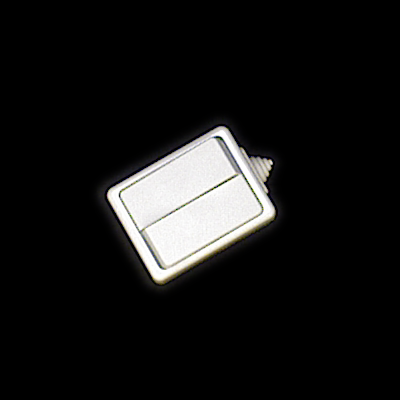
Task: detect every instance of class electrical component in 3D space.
[{"bbox_3d":[0.000,0.000,0.627,0.096,0.062,0.061,-30,-6,-3],"label":"electrical component"}]
